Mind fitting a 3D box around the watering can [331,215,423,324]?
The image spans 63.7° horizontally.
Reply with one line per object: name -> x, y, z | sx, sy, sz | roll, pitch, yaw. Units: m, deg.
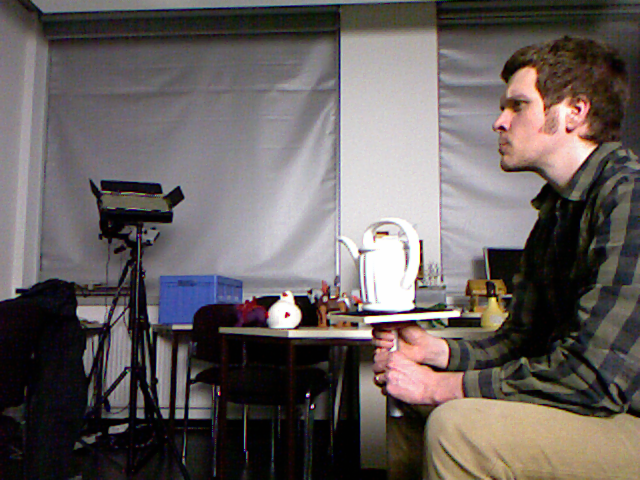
watering can -> 0.116, 0.063, 1.108 | 0.104, 0.225, 0.346 | -1, -4, -24
